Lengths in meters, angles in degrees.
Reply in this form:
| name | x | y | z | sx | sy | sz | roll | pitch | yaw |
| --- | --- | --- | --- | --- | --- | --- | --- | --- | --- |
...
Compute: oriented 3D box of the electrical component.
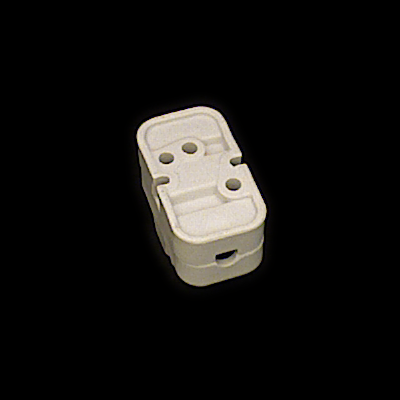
| name | x | y | z | sx | sy | sz | roll | pitch | yaw |
| --- | --- | --- | --- | --- | --- | --- | --- | --- | --- |
| electrical component | 0.000 | 0.000 | 0.634 | 0.054 | 0.094 | 0.059 | -15 | -35 | -11 |
